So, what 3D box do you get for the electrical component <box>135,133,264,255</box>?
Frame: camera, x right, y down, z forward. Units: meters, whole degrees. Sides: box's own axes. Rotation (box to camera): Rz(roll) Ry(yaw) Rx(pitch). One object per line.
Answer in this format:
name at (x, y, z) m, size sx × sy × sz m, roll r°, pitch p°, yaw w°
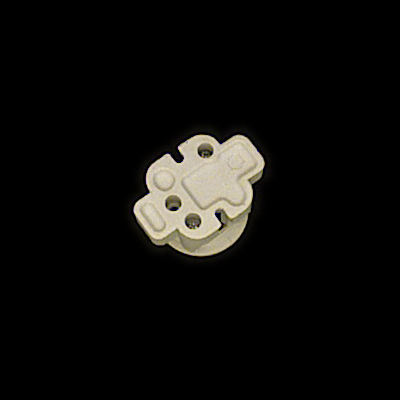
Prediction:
electrical component at (0.000, 0.000, 0.636) m, size 0.079 × 0.058 × 0.056 m, roll -35°, pitch -14°, yaw -11°
